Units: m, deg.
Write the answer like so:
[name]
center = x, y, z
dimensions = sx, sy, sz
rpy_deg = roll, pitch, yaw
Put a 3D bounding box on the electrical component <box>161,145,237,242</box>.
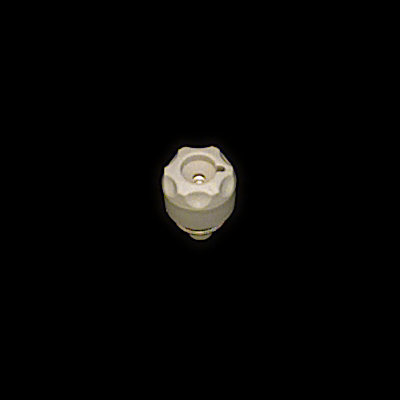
[electrical component]
center = 0.000, 0.000, 0.635
dimensions = 0.043, 0.043, 0.062
rpy_deg = 0, -37, 1
